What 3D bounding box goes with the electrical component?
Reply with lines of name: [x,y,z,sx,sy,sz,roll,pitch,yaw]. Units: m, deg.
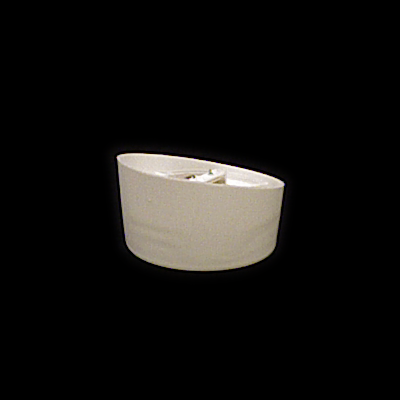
electrical component: [0.000,0.000,0.636,0.099,0.065,0.097,1,22,0]
